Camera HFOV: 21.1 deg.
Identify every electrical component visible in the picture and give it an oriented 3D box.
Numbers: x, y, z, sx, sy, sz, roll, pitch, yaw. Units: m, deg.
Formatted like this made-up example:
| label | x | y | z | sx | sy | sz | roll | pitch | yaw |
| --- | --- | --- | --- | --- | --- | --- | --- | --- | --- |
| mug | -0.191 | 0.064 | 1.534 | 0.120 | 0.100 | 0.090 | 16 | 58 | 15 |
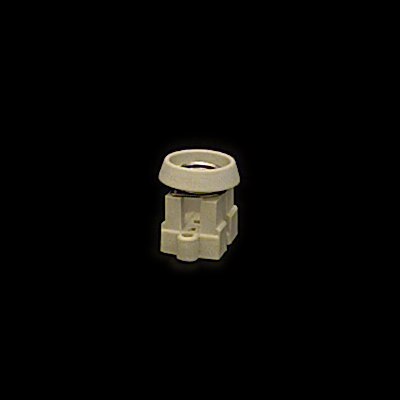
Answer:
| label | x | y | z | sx | sy | sz | roll | pitch | yaw |
| --- | --- | --- | --- | --- | --- | --- | --- | --- | --- |
| electrical component | 0.000 | 0.000 | 0.648 | 0.048 | 0.056 | 0.066 | 9 | 23 | 13 |
